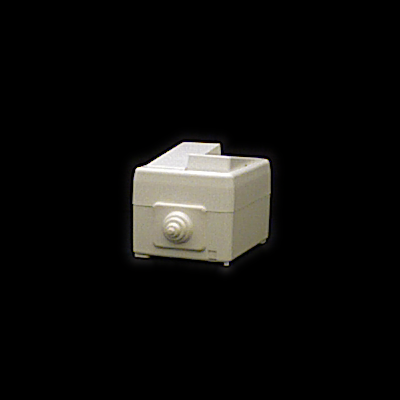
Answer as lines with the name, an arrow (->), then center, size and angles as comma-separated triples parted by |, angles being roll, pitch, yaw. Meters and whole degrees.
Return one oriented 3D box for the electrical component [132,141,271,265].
electrical component -> 0.000, 0.000, 0.642 | 0.061, 0.061, 0.096 | 5, 11, 20
